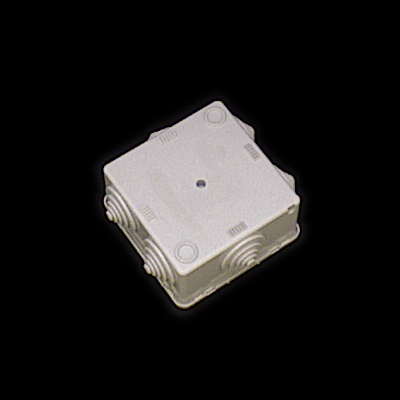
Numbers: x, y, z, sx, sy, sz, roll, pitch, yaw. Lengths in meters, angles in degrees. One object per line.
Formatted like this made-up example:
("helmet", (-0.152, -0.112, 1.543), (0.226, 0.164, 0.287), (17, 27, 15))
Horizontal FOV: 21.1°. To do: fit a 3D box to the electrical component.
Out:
("electrical component", (0.000, 0.000, 0.631), (0.100, 0.099, 0.048), (-31, -23, -15))
